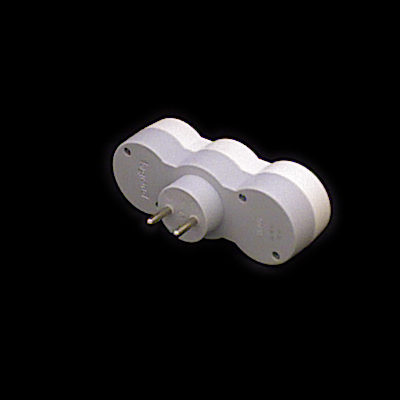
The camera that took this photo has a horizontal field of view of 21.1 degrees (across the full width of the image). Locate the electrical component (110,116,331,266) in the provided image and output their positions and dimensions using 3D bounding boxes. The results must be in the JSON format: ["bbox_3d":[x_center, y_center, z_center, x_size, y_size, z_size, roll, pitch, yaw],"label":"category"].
[{"bbox_3d":[0.000,0.000,0.635,0.137,0.053,0.073,23,40,30],"label":"electrical component"}]
